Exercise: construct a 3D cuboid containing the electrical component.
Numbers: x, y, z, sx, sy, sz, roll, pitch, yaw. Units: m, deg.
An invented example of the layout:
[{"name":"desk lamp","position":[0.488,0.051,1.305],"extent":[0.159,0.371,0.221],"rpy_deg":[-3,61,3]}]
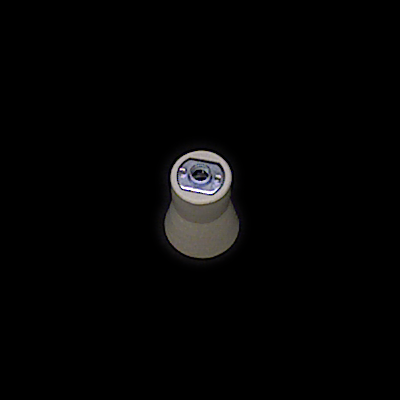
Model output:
[{"name":"electrical component","position":[0.000,0.000,0.626],"extent":[0.044,0.044,0.065],"rpy_deg":[0,-28,0]}]
